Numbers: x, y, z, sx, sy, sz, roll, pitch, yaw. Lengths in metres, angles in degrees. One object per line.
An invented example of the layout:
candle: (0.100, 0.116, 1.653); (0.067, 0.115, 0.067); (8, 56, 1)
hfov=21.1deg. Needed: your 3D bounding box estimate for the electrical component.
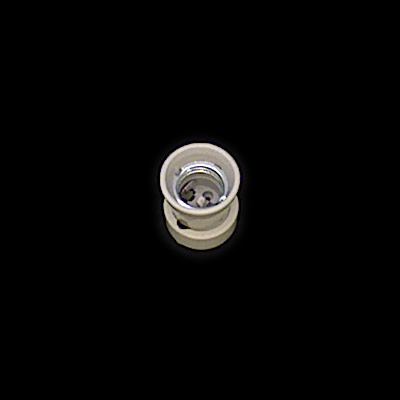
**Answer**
electrical component: (0.000, 0.000, 0.628); (0.045, 0.045, 0.055); (0, -28, 0)
